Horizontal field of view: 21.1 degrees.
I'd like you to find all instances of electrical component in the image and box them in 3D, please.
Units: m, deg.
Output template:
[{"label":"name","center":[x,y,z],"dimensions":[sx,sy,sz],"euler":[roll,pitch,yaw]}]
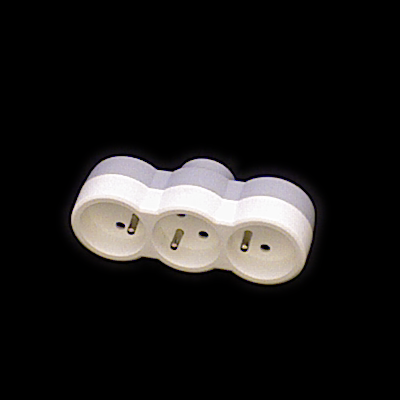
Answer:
[{"label":"electrical component","center":[0.000,0.000,0.634],"dimensions":[0.138,0.052,0.073],"euler":[8,41,9]}]
